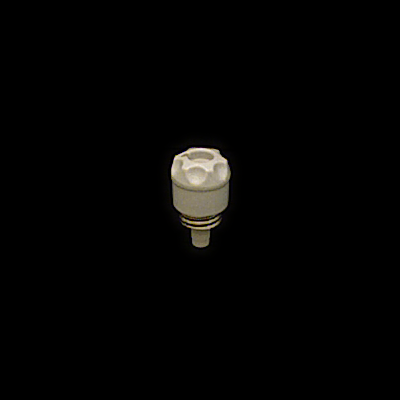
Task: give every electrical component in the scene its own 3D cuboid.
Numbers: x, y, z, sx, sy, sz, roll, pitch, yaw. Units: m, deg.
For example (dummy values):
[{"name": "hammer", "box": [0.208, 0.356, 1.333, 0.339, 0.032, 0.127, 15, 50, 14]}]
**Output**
[{"name": "electrical component", "box": [0.000, 0.000, 0.642, 0.035, 0.062, 0.034, 1, 32, 0]}]
